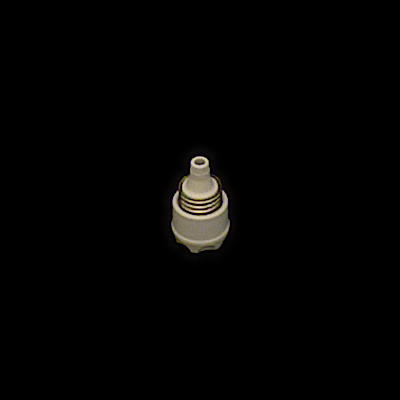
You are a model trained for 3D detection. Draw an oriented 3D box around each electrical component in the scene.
[{"bbox_3d":[0.000,0.000,0.641,0.035,0.062,0.035,0,41,0],"label":"electrical component"}]
